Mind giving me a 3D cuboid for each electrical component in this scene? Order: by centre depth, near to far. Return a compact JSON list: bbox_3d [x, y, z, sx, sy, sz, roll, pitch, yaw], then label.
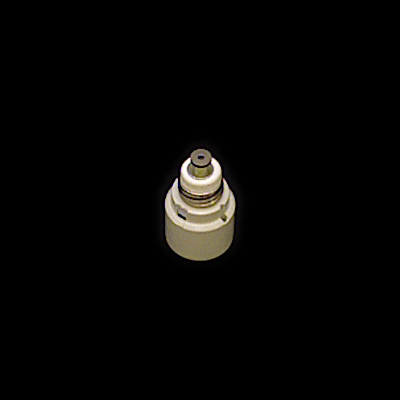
[{"bbox_3d":[0.000,0.000,0.621,0.040,0.040,0.079,0,-38,-2],"label":"electrical component"}]
